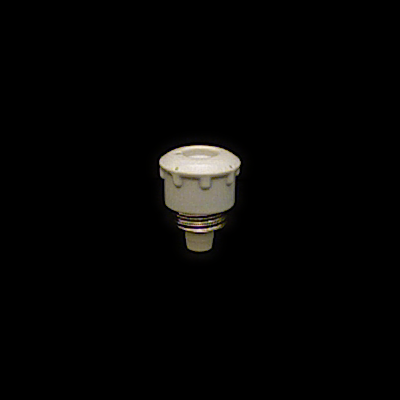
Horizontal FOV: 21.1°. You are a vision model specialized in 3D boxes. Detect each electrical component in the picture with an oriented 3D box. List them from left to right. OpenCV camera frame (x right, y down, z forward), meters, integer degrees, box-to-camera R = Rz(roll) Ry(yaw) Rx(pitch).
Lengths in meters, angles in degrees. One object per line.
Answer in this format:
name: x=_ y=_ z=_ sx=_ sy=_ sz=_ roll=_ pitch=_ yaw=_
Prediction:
electrical component: x=0.000 y=0.000 z=0.643 sx=0.048 sy=0.062 sz=0.047 roll=1 pitch=21 yaw=0
